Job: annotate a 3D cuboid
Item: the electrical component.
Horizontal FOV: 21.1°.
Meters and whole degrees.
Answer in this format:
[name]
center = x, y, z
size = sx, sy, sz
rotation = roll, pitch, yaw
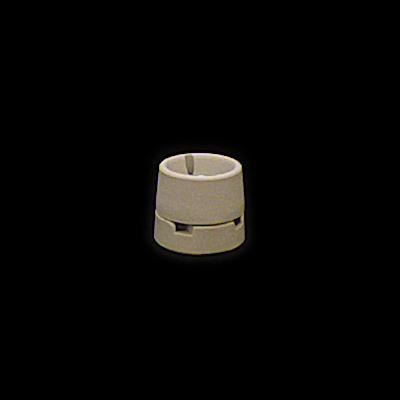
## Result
[electrical component]
center = 0.000, 0.000, 0.643
size = 0.055, 0.047, 0.055
rotation = 1, 20, 0
